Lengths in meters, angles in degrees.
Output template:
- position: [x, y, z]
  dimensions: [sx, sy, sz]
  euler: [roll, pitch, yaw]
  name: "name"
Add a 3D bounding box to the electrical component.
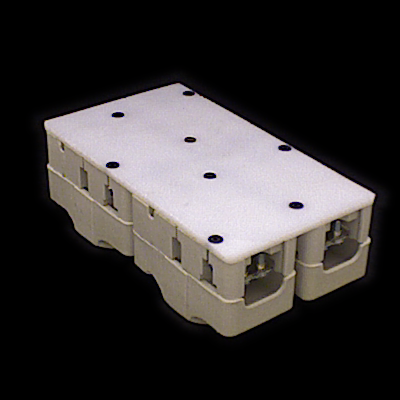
- position: [0.000, 0.000, 0.634]
  dimensions: [0.105, 0.061, 0.184]
  euler: [-21, 38, -32]
  name: "electrical component"
